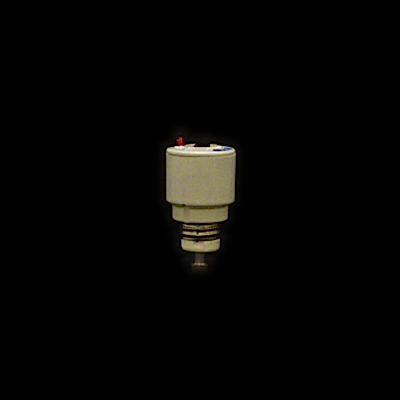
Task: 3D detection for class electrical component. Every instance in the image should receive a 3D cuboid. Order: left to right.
[{"bbox_3d":[0.000,0.000,0.644,0.040,0.079,0.040,1,11,0],"label":"electrical component"}]
